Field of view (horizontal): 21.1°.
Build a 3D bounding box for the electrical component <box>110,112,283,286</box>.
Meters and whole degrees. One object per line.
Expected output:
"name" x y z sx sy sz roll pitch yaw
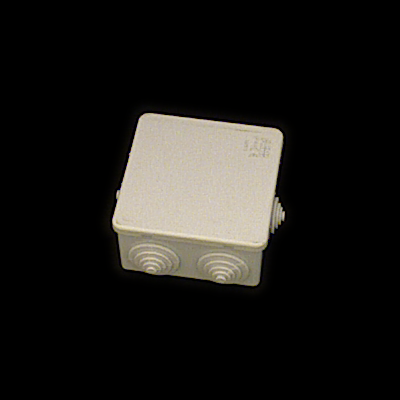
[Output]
"electrical component" 0.000 0.000 0.641 0.099 0.099 0.049 8 -37 5
